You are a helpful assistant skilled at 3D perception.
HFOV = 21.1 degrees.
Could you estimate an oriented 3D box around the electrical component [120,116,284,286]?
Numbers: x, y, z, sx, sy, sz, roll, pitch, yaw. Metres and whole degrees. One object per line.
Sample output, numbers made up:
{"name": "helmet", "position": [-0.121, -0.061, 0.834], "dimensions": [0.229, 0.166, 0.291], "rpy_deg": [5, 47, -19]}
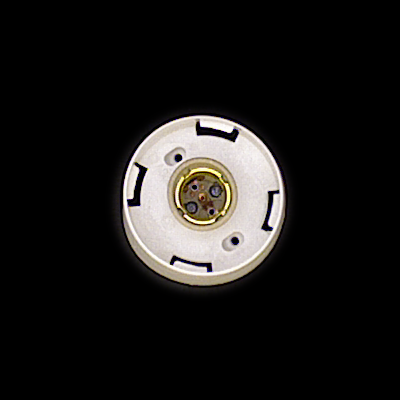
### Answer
{"name": "electrical component", "position": [0.000, 0.000, 0.625], "dimensions": [0.099, 0.099, 0.064], "rpy_deg": [0, -6, 1]}
